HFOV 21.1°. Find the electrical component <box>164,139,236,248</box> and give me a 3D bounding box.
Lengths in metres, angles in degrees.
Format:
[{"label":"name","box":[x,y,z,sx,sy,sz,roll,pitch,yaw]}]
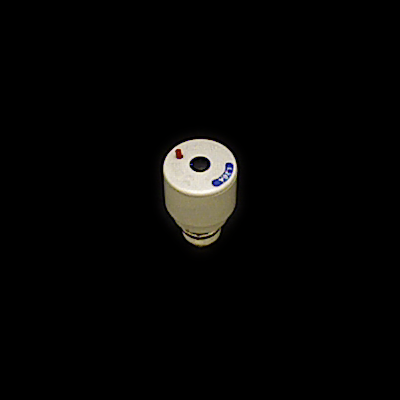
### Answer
[{"label":"electrical component","box":[0.000,0.000,0.621,0.040,0.040,0.079,0,-38,0]}]
